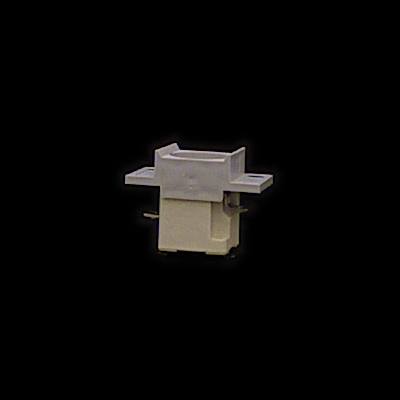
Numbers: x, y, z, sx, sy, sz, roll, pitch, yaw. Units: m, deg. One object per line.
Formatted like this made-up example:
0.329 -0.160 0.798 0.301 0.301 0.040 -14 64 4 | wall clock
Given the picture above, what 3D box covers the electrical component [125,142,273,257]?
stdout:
0.000 0.000 0.643 0.080 0.064 0.042 4 13 14 | electrical component
